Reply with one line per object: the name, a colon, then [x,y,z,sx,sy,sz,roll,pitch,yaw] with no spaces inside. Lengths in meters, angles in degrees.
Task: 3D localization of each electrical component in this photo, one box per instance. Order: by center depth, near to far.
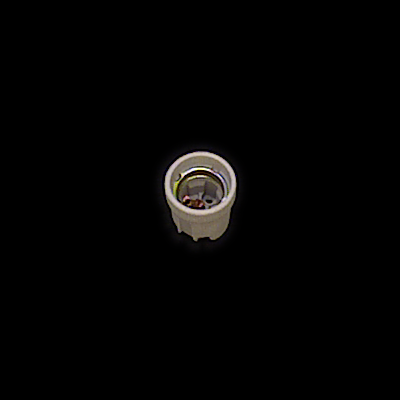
electrical component: [0.000,0.000,0.627,0.040,0.040,0.046,0,-27,0]
